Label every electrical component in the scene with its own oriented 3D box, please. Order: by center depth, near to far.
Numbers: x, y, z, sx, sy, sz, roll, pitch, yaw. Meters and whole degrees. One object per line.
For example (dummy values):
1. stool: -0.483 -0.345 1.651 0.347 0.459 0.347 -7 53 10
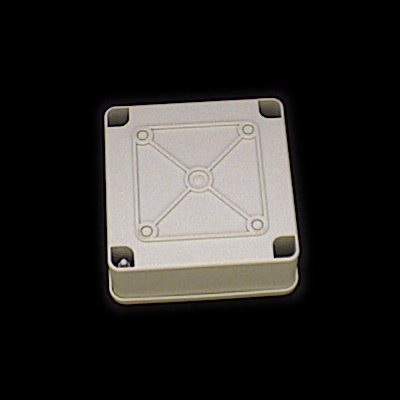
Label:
1. electrical component: 0.000 0.000 0.627 0.109 0.109 0.056 -3 -27 -2
